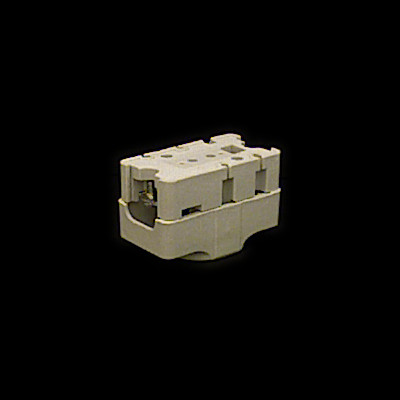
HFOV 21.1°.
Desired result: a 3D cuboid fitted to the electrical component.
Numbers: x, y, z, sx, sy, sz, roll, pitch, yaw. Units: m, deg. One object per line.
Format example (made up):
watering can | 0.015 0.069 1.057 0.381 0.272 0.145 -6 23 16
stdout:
electrical component | 0.000 0.000 0.647 0.090 0.056 0.049 -16 27 -37
